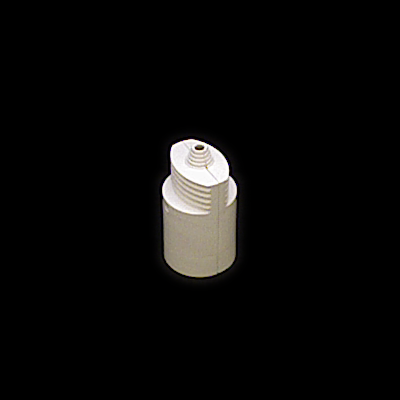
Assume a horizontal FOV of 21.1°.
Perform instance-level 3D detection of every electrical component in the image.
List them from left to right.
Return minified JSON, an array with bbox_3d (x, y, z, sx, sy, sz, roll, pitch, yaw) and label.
[{"bbox_3d":[0.000,0.000,0.624,0.043,0.082,0.042,0,41,0],"label":"electrical component"}]
